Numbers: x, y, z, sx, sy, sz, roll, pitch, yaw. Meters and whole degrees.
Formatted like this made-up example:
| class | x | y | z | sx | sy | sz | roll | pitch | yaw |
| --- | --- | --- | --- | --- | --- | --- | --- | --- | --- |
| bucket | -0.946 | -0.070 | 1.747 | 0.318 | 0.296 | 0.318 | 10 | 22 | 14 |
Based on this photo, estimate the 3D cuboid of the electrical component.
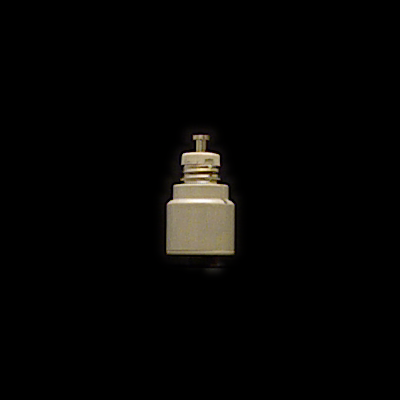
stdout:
| class | x | y | z | sx | sy | sz | roll | pitch | yaw |
| --- | --- | --- | --- | --- | --- | --- | --- | --- | --- |
| electrical component | 0.000 | 0.000 | 0.649 | 0.040 | 0.078 | 0.040 | 0 | 1 | 0 |
